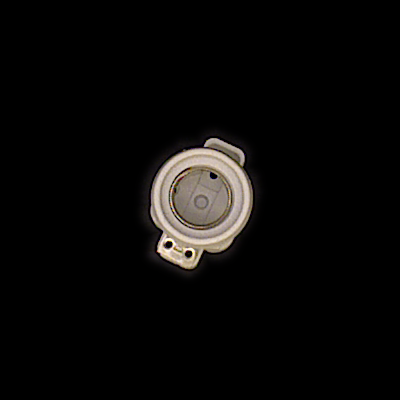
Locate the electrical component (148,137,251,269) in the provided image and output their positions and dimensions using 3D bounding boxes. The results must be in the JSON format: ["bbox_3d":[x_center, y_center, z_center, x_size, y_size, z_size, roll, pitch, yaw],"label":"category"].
[{"bbox_3d":[0.000,0.000,0.629,0.058,0.079,0.056,25,-6,3],"label":"electrical component"}]
